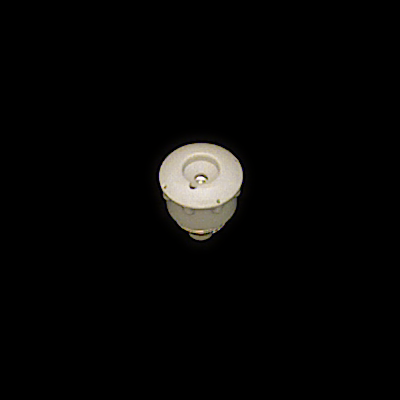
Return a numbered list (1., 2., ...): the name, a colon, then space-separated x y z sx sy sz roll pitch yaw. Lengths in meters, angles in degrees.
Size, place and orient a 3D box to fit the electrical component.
1. electrical component: 0.000 0.000 0.634 0.048 0.048 0.062 0 -37 0
